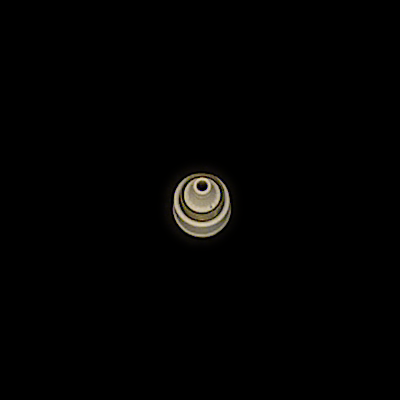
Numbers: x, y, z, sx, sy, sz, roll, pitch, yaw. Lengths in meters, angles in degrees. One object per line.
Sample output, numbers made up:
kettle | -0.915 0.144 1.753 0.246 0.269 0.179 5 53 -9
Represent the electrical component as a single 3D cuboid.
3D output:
electrical component | 0.000 0.000 0.637 0.035 0.035 0.061 0 -16 0
